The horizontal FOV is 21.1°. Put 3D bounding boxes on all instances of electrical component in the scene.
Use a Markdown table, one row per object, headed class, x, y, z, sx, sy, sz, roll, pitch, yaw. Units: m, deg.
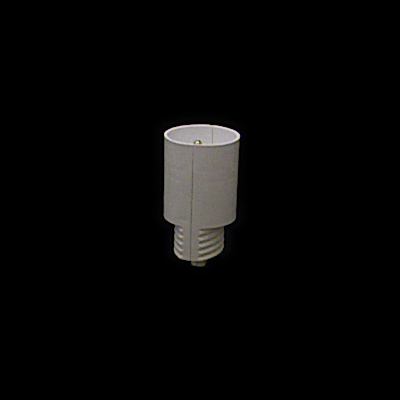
| class | x | y | z | sx | sy | sz | roll | pitch | yaw |
| --- | --- | --- | --- | --- | --- | --- | --- | --- | --- |
| electrical component | 0.000 | 0.000 | 0.633 | 0.043 | 0.082 | 0.042 | 0 | 22 | 0 |
